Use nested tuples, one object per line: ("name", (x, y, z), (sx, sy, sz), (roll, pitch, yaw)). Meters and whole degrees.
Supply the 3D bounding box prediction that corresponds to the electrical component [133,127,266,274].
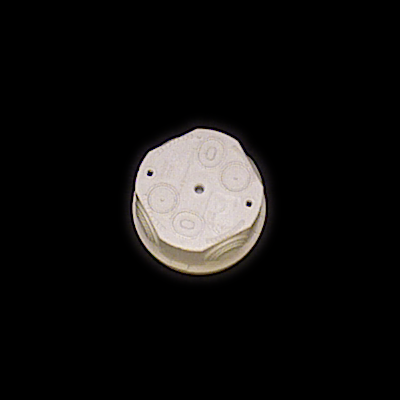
("electrical component", (0.000, 0.000, 0.632), (0.080, 0.080, 0.050), (0, -17, -1))
